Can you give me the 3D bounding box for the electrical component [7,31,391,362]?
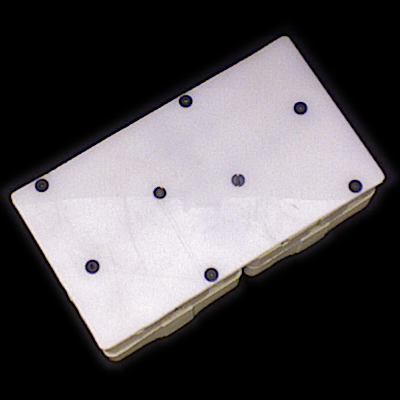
[{"bbox_3d":[0.000,0.000,0.625,0.187,0.106,0.060,-31,-14,-9],"label":"electrical component"}]
